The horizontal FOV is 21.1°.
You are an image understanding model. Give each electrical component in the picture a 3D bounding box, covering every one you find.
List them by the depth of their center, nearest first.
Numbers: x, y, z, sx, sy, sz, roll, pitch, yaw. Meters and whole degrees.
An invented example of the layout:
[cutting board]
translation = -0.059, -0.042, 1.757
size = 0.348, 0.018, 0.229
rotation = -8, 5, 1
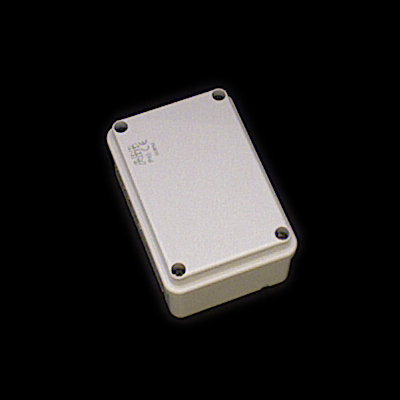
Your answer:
[electrical component]
translation = 0.000, 0.000, 0.626
size = 0.078, 0.113, 0.057
rotation = -19, -25, -10
